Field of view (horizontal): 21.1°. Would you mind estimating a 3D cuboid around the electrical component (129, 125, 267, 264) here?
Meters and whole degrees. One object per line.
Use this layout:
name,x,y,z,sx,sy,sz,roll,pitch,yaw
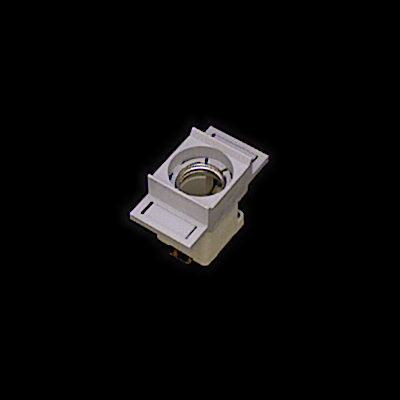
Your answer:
electrical component,0.000,0.000,0.628,0.042,0.080,0.064,29,-32,22
